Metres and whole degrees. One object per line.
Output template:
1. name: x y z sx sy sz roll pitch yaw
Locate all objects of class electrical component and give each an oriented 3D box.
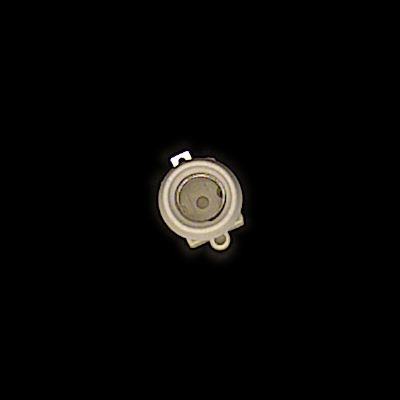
1. electrical component: 0.000 0.000 0.639 0.048 0.066 0.055 -26 -5 -4
